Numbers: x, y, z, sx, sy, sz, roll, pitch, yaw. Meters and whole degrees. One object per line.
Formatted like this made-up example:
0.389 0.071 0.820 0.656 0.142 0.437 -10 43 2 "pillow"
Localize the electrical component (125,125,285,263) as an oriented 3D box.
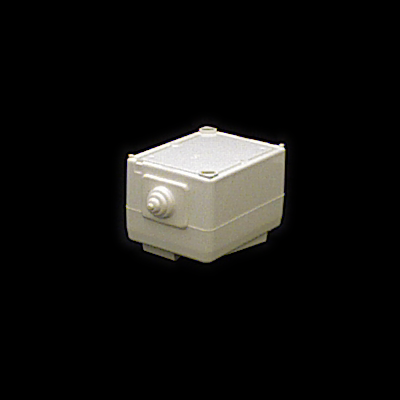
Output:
-0.001 0.000 0.632 0.061 0.061 0.096 16 25 33 "electrical component"
